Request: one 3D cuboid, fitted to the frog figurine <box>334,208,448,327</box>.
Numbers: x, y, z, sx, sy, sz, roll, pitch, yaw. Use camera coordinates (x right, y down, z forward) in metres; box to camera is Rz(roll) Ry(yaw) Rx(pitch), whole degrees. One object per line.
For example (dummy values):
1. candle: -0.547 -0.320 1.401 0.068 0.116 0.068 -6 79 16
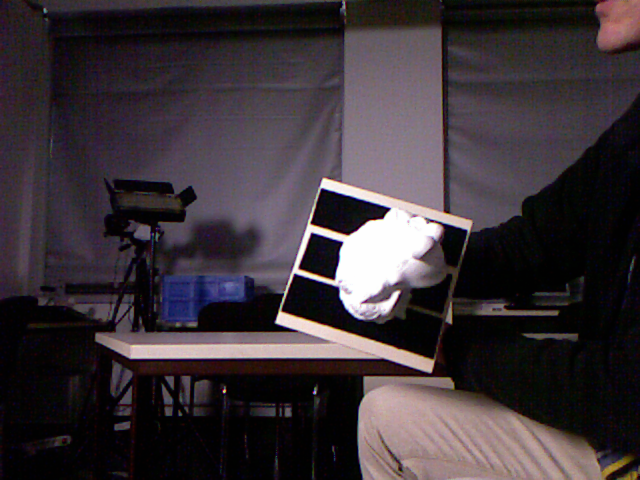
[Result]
1. frog figurine: 0.076 0.029 0.583 0.123 0.139 0.158 26 -12 7
